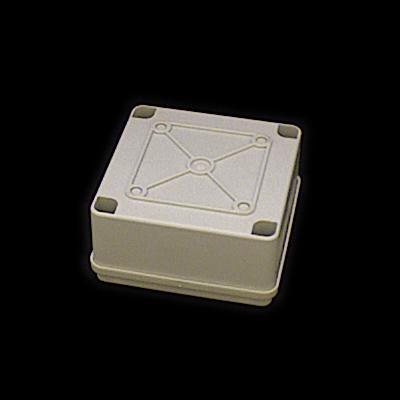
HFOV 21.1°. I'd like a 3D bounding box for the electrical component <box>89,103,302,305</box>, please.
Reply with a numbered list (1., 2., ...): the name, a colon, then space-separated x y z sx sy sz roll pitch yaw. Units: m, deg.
1. electrical component: 0.000 0.000 0.634 0.108 0.057 0.107 9 42 8
